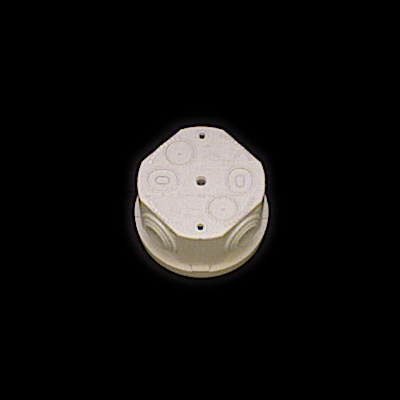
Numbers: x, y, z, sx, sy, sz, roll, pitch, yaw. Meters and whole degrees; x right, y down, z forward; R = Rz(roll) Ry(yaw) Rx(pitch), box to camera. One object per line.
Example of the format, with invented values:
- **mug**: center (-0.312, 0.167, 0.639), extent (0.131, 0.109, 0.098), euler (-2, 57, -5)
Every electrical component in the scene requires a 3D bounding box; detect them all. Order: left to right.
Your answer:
- **electrical component**: center (0.000, 0.000, 0.632), extent (0.080, 0.080, 0.050), euler (0, -28, 0)
